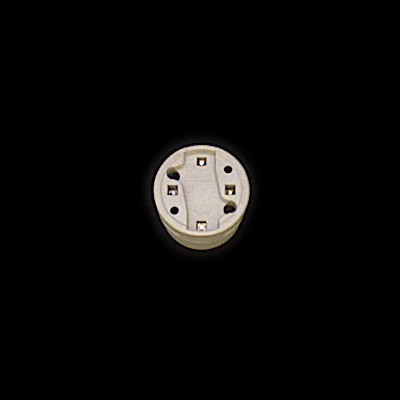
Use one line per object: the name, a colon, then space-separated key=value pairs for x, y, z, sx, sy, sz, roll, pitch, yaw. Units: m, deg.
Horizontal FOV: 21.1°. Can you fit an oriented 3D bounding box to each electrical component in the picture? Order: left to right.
electrical component: x=0.000 y=0.000 z=0.635 sx=0.055 sy=0.056 sz=0.047 roll=0 pitch=-17 yaw=0
